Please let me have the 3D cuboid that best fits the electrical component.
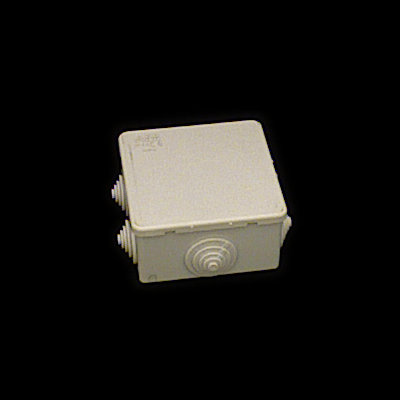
[{"bbox_3d":[0.000,0.000,0.642,0.100,0.049,0.098,-5,43,-7],"label":"electrical component"}]
